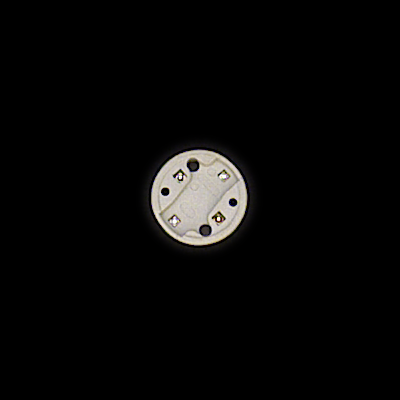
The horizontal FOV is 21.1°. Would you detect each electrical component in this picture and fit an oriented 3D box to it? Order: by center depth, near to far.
[{"bbox_3d":[0.000,0.000,0.636,0.055,0.055,0.047,0,-6,0],"label":"electrical component"}]
